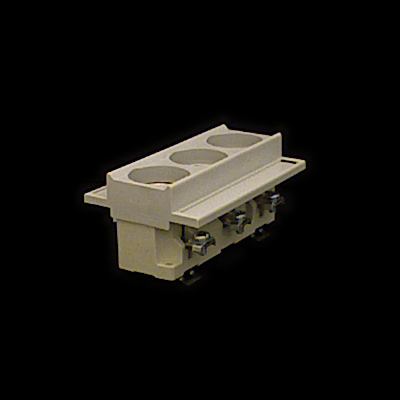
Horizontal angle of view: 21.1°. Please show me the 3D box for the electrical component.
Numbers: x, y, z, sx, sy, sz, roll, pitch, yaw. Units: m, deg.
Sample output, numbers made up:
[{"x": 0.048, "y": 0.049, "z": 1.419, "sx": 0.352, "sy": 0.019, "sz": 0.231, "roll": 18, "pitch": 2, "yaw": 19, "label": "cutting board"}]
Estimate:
[{"x": 0.000, "y": 0.000, "z": 0.651, "sx": 0.078, "sy": 0.064, "sz": 0.121, "roll": 13, "pitch": 24, "yaw": 31, "label": "electrical component"}]
